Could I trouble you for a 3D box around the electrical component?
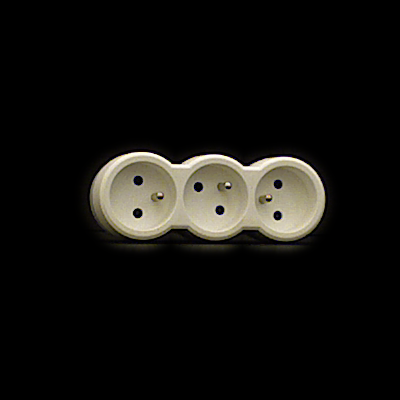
[{"bbox_3d":[0.000,0.000,0.660,0.139,0.052,0.073,1,0,-15],"label":"electrical component"}]
